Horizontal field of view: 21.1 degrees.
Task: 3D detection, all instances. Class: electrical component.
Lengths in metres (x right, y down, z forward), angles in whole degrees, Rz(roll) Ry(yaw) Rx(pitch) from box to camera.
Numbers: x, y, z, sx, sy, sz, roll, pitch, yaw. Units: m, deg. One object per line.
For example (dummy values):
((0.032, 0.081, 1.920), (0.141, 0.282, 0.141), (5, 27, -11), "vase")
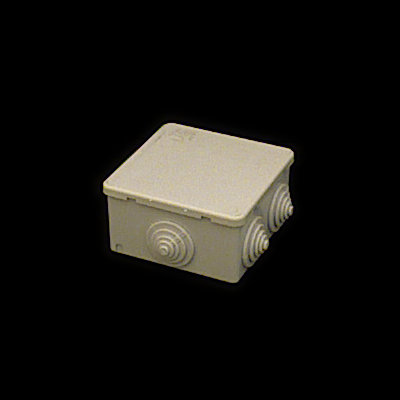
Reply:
((0.000, 0.000, 0.645), (0.099, 0.049, 0.099), (14, 35, 20), "electrical component")
